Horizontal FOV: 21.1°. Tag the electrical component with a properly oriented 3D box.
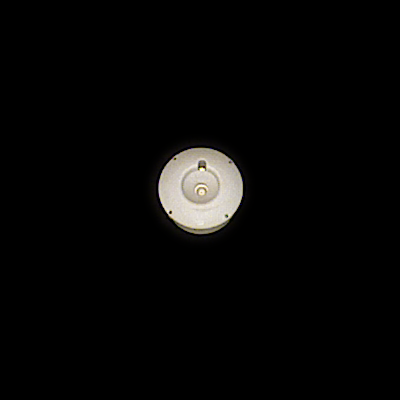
[{"bbox_3d":[0.000,0.000,0.633,0.048,0.048,0.061,0,-16,1],"label":"electrical component"}]
